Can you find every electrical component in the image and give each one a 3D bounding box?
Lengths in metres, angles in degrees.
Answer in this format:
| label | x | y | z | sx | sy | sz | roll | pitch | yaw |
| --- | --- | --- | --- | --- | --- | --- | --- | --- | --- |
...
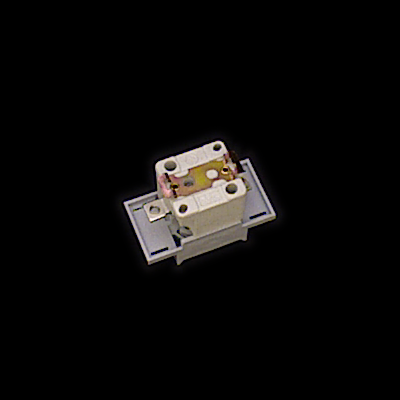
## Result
| label | x | y | z | sx | sy | sz | roll | pitch | yaw |
| --- | --- | --- | --- | --- | --- | --- | --- | --- | --- |
| electrical component | 0.000 | 0.000 | 0.626 | 0.081 | 0.042 | 0.063 | -20 | -25 | -10 |
